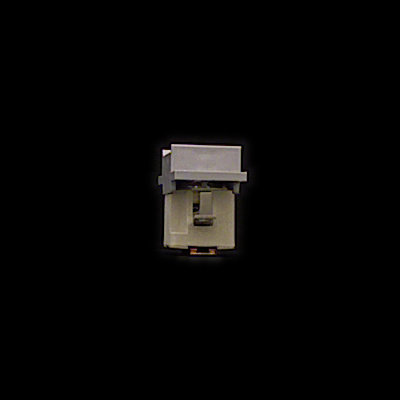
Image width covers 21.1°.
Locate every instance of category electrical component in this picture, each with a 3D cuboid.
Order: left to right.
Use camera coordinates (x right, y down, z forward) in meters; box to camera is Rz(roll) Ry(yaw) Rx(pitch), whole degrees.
[{"bbox_3d":[0.000,0.000,0.647,0.042,0.064,0.081,2,0,-8],"label":"electrical component"}]
